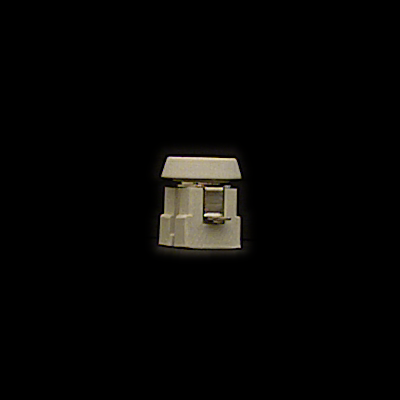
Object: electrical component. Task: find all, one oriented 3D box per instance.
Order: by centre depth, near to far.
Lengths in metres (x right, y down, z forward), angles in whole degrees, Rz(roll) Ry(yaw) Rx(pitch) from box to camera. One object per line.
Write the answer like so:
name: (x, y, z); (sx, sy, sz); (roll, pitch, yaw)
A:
electrical component: (0.000, 0.000, 0.656); (0.049, 0.055, 0.066); (-2, 2, -25)
